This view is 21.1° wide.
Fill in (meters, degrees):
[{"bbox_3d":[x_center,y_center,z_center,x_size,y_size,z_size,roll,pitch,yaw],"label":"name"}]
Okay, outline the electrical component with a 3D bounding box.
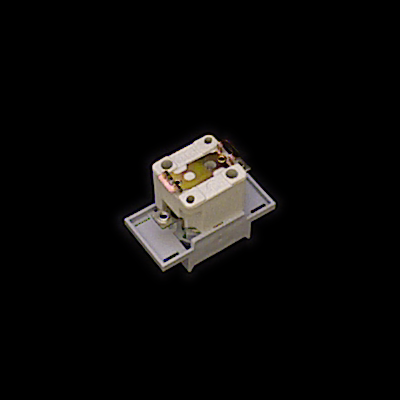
[{"bbox_3d":[0.000,0.000,0.626,0.081,0.042,0.064,-29,-32,-21],"label":"electrical component"}]
